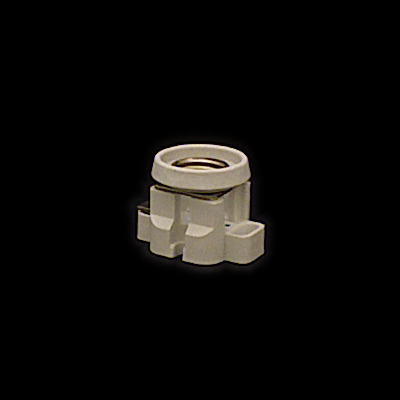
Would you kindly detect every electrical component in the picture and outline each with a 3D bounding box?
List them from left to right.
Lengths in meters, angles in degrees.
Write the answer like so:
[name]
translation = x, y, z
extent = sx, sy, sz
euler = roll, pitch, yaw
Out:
[electrical component]
translation = 0.000, 0.000, 0.639
extent = 0.078, 0.057, 0.057
euler = 13, 24, 28
